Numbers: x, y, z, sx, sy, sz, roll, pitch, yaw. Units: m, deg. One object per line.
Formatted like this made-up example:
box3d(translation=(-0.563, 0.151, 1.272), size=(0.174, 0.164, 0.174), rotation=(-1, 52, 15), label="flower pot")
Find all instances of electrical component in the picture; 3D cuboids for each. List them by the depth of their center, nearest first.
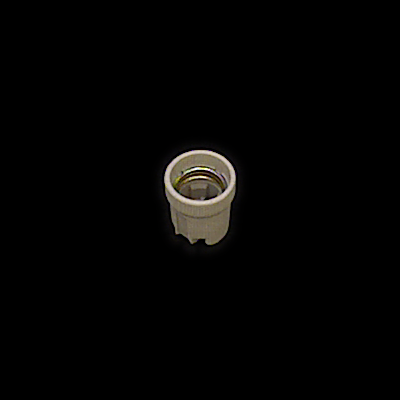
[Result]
box3d(translation=(0.000, 0.000, 0.629), size=(0.040, 0.040, 0.046), rotation=(0, -38, -1), label="electrical component")
